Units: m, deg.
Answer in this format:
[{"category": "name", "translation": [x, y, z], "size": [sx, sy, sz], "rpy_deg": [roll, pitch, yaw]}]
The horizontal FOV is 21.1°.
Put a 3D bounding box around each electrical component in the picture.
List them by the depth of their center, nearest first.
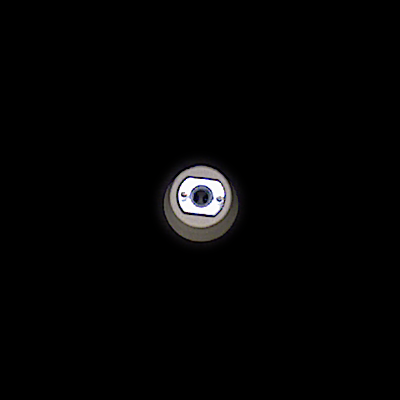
[{"category": "electrical component", "translation": [0.000, 0.000, 0.626], "size": [0.044, 0.044, 0.065], "rpy_deg": [0, -5, 0]}]
